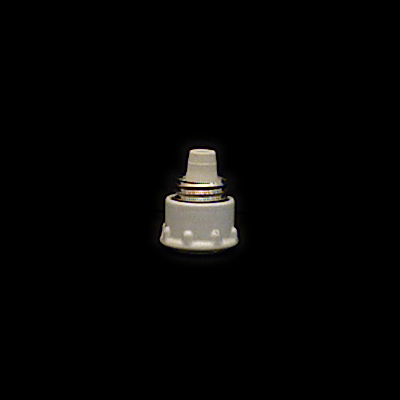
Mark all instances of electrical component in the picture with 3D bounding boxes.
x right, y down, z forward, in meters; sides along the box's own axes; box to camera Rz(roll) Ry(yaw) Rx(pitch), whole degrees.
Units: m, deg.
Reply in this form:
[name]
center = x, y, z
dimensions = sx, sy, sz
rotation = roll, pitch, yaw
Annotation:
[electrical component]
center = 0.000, 0.000, 0.652
dimensions = 0.048, 0.062, 0.048
rotation = 2, 12, 0
